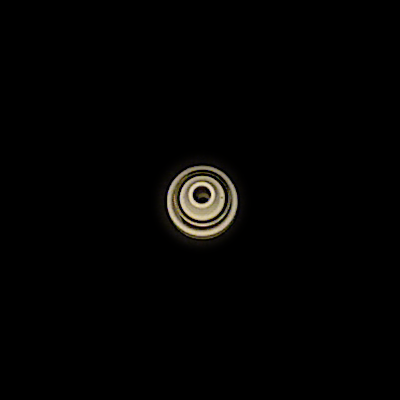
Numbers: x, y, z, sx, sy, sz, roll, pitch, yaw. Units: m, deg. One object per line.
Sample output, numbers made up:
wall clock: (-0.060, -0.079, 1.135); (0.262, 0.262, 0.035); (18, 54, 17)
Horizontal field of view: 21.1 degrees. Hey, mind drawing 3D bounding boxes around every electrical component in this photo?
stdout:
electrical component: (0.000, 0.000, 0.635); (0.043, 0.043, 0.062); (0, -6, 0)
